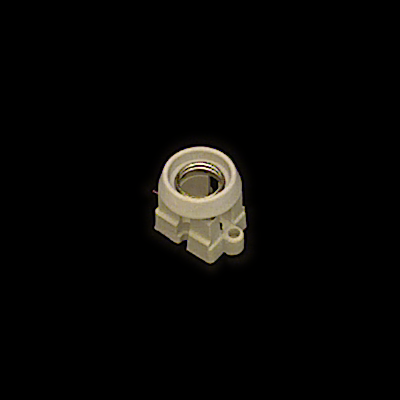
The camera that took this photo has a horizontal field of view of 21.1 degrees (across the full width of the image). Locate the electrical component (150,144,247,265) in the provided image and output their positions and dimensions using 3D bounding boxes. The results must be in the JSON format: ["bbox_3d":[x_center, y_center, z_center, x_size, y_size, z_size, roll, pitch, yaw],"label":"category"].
[{"bbox_3d":[0.000,0.000,0.638,0.066,0.048,0.055,30,-33,20],"label":"electrical component"}]
